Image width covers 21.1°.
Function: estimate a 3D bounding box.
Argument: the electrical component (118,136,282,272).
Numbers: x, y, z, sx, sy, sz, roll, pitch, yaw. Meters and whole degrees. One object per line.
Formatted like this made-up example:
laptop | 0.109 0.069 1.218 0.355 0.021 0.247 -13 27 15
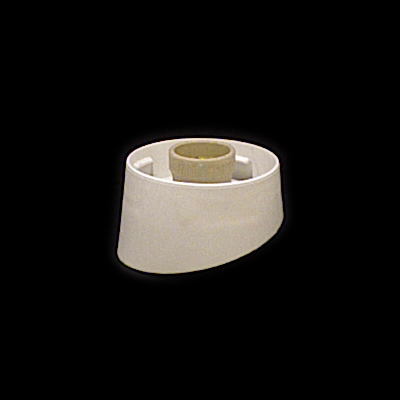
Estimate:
electrical component | 0.000 0.000 0.639 0.099 0.065 0.097 1 21 0
